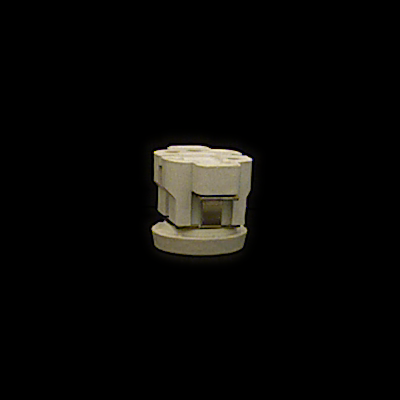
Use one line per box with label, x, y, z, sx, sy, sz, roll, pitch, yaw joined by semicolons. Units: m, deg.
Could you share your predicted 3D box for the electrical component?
electrical component;0.000;0.000;0.650;0.058;0.057;0.077;-2;13;-18
